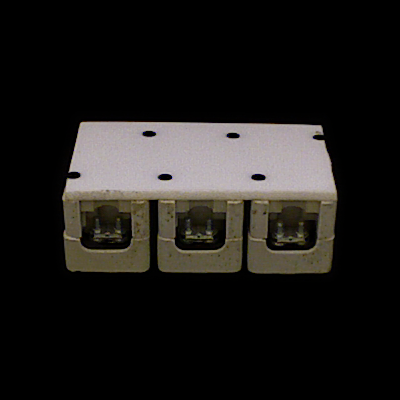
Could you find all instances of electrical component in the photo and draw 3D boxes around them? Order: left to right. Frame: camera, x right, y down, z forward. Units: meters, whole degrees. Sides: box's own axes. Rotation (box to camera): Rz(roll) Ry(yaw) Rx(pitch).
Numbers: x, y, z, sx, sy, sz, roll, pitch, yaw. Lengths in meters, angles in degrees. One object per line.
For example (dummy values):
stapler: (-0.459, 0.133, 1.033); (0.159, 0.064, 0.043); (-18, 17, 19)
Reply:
electrical component: (0.000, 0.000, 0.638); (0.150, 0.063, 0.087); (1, 31, 0)
